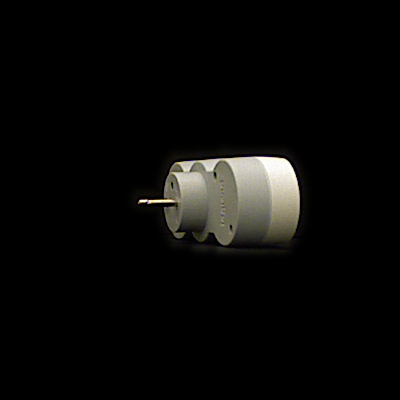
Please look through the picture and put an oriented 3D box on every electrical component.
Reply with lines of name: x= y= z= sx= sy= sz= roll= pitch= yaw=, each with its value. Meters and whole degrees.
electrical component: x=0.000 y=0.000 z=0.657 sx=0.074 sy=0.052 sz=0.137 roll=-1 pitch=1 yaw=-19
